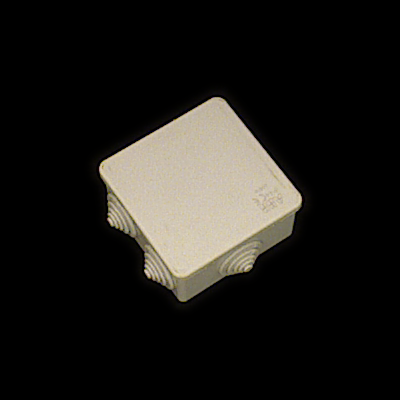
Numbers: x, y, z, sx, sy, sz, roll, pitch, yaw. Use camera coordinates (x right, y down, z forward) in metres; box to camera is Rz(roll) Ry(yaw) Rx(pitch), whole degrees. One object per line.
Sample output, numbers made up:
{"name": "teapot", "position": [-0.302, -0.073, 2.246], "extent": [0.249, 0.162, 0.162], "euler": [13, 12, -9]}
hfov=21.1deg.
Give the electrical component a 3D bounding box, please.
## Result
{"name": "electrical component", "position": [0.000, 0.000, 0.640], "extent": [0.100, 0.099, 0.048], "euler": [-31, -22, -15]}
